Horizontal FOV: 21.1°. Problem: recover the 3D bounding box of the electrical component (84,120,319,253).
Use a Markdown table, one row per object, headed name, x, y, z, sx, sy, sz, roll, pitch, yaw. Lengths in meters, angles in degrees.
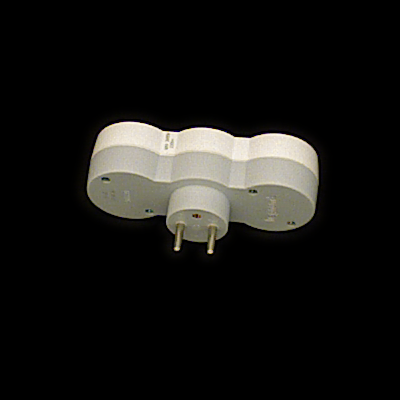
| name | x | y | z | sx | sy | sz | roll | pitch | yaw |
| --- | --- | --- | --- | --- | --- | --- | --- | --- | --- |
| electrical component | 0.000 | 0.000 | 0.637 | 0.138 | 0.073 | 0.052 | 5 | -35 | 3 |
